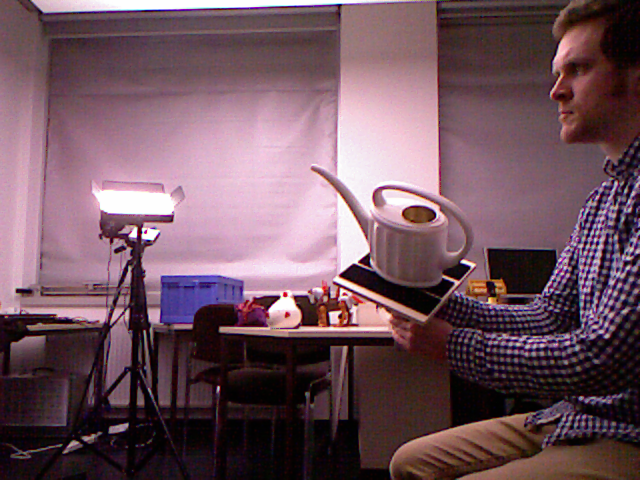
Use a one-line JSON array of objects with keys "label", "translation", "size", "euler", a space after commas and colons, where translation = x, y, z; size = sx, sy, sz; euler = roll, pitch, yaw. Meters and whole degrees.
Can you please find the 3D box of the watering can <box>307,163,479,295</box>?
[{"label": "watering can", "translation": [0.126, -0.022, 0.980], "size": [0.351, 0.219, 0.106], "euler": [22, 43, 26]}]
